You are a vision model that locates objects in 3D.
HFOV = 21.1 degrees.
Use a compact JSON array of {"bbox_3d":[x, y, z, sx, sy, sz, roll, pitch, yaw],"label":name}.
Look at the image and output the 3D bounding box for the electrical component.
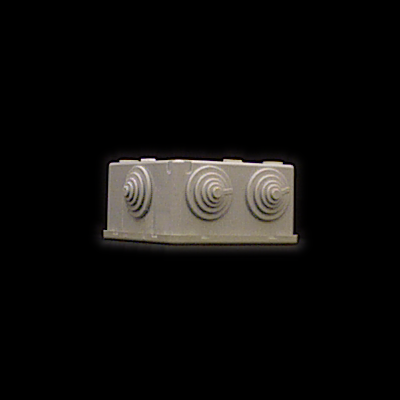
[{"bbox_3d":[0.000,0.000,0.648,0.100,0.048,0.099,1,0,-33],"label":"electrical component"}]
